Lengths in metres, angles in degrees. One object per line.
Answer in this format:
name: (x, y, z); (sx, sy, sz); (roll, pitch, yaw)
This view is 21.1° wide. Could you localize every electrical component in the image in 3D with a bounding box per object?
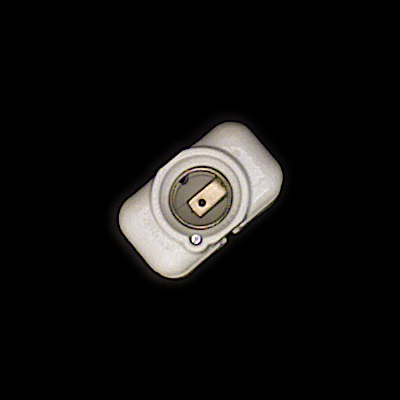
electrical component: (0.000, 0.000, 0.635); (0.095, 0.054, 0.059); (-40, -5, -3)
